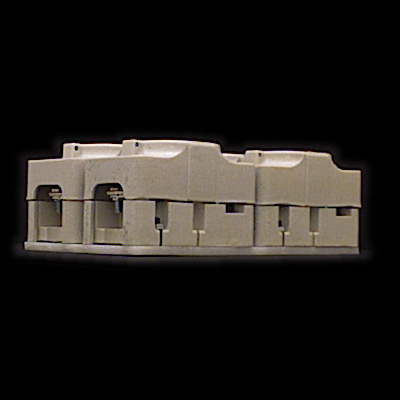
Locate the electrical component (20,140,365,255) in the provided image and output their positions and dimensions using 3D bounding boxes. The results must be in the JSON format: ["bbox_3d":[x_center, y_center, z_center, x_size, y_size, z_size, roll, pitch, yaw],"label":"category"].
[{"bbox_3d":[0.000,0.000,0.649,0.187,0.060,0.105,1,0,-43],"label":"electrical component"}]
